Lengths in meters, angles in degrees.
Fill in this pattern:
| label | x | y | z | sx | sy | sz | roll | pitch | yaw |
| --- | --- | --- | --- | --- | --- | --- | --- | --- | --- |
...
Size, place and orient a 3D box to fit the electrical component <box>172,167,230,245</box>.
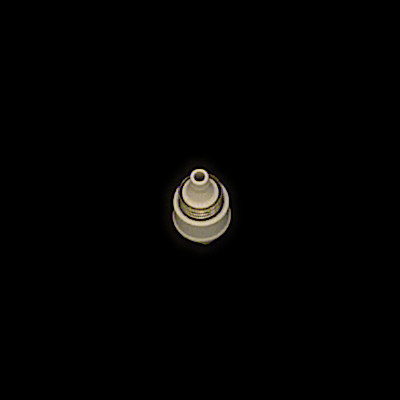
| label | x | y | z | sx | sy | sz | roll | pitch | yaw |
| --- | --- | --- | --- | --- | --- | --- | --- | --- | --- |
| electrical component | 0.000 | 0.000 | 0.637 | 0.035 | 0.035 | 0.061 | 0 | -28 | 2 |
